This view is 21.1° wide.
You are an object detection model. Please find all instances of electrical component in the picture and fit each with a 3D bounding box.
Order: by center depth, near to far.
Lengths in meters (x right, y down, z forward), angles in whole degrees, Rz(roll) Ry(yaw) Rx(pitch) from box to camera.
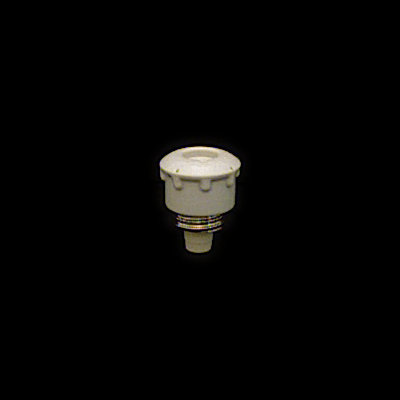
[{"bbox_3d":[0.000,0.000,0.646,0.048,0.063,0.047,1,22,0],"label":"electrical component"}]
